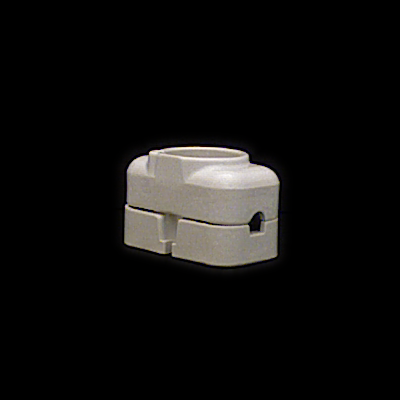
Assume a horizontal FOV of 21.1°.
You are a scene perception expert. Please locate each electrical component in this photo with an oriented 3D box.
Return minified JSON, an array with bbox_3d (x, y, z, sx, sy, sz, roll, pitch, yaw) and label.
[{"bbox_3d":[0.000,0.000,0.650,0.094,0.060,0.054,11,15,43],"label":"electrical component"}]
